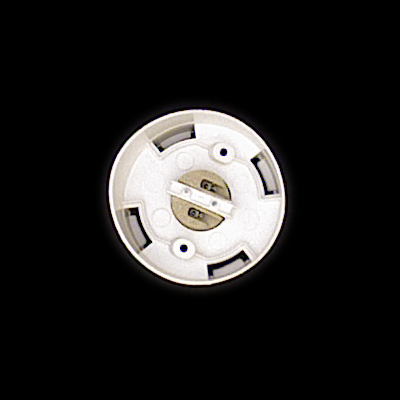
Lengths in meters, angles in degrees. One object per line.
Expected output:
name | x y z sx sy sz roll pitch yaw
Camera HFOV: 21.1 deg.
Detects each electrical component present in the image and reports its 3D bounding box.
electrical component | 0.000 0.000 0.624 0.099 0.099 0.064 0 -7 1
